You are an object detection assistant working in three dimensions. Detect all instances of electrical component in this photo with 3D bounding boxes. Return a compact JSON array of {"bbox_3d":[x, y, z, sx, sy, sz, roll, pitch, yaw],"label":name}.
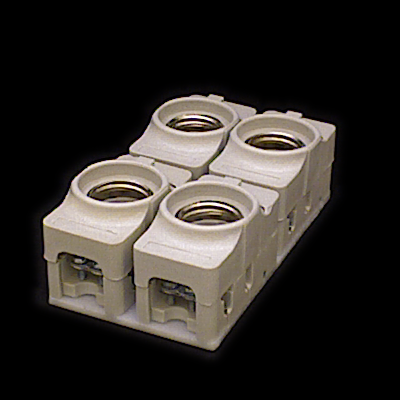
[{"bbox_3d":[0.000,0.000,0.634,0.105,0.061,0.185,15,34,22],"label":"electrical component"}]
